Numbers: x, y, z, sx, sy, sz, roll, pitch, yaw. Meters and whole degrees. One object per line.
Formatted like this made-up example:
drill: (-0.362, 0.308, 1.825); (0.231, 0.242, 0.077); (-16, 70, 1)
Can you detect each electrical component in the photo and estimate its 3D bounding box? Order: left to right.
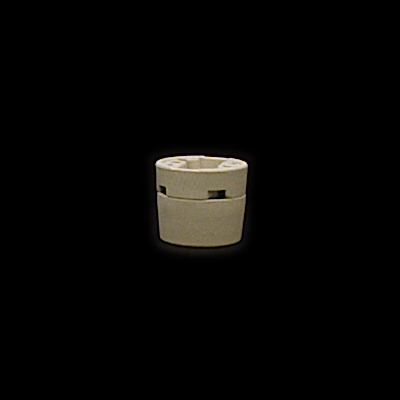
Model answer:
electrical component: (0.000, 0.000, 0.644); (0.055, 0.047, 0.055); (1, 11, 0)
